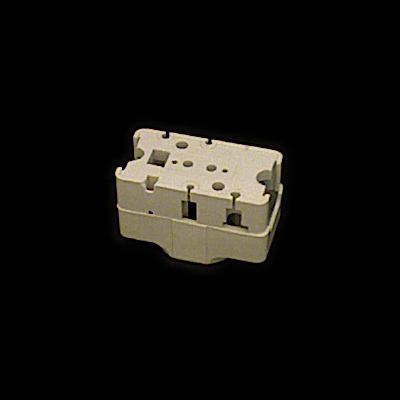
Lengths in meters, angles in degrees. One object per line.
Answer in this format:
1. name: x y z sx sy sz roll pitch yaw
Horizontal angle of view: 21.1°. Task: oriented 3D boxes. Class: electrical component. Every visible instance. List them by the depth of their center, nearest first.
1. electrical component: 0.000 0.000 0.639 0.089 0.056 0.050 10 44 11
